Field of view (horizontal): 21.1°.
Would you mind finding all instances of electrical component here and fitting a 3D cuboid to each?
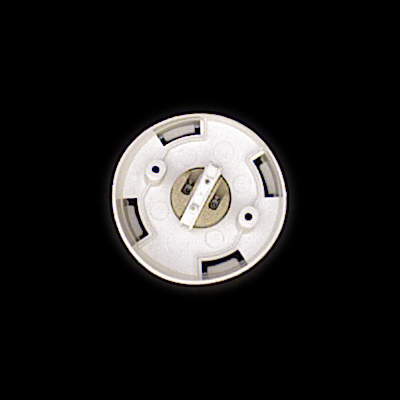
[{"bbox_3d":[0.000,0.000,0.624,0.099,0.099,0.064,0,-6,0],"label":"electrical component"}]
